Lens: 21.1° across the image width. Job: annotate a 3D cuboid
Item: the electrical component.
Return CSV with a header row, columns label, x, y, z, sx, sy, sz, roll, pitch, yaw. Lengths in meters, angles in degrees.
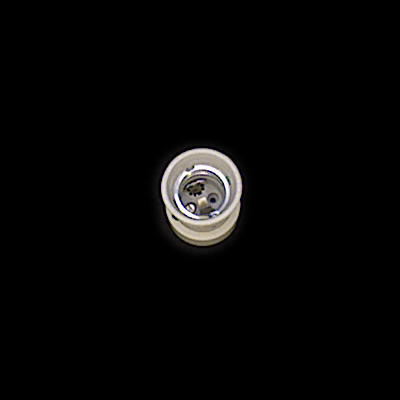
label,x,y,z,sx,sy,sz,roll,pitch,yaw
electrical component,0.000,0.000,0.628,0.045,0.045,0.055,0,-17,0
